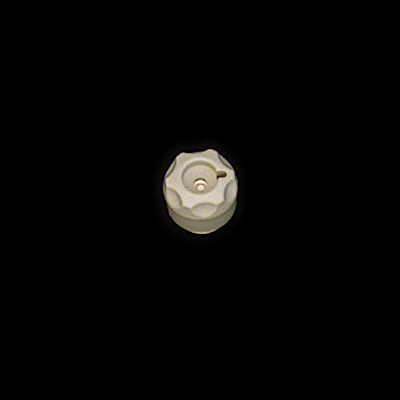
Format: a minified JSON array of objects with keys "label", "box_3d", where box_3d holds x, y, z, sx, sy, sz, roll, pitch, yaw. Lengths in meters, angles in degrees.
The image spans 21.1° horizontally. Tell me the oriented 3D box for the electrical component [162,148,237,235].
[{"label":"electrical component","box_3d":[0.000,0.000,0.634,0.043,0.043,0.062,0,-26,1]}]
